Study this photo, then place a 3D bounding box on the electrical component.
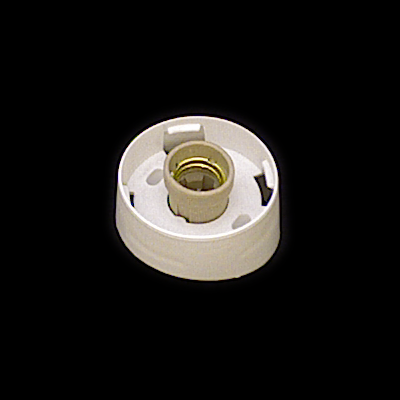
[{"bbox_3d":[0.000,0.000,0.626,0.099,0.098,0.064,0,-38,-1],"label":"electrical component"}]
